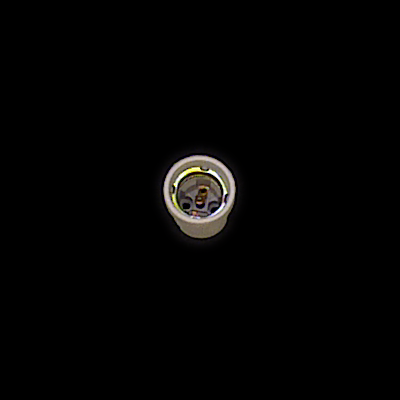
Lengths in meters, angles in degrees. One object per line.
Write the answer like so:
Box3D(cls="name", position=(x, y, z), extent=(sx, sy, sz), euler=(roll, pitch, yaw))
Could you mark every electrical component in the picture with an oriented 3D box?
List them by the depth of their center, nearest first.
Box3D(cls="electrical component", position=(0.000, 0.000, 0.627), extent=(0.040, 0.040, 0.046), euler=(0, -17, 0))
